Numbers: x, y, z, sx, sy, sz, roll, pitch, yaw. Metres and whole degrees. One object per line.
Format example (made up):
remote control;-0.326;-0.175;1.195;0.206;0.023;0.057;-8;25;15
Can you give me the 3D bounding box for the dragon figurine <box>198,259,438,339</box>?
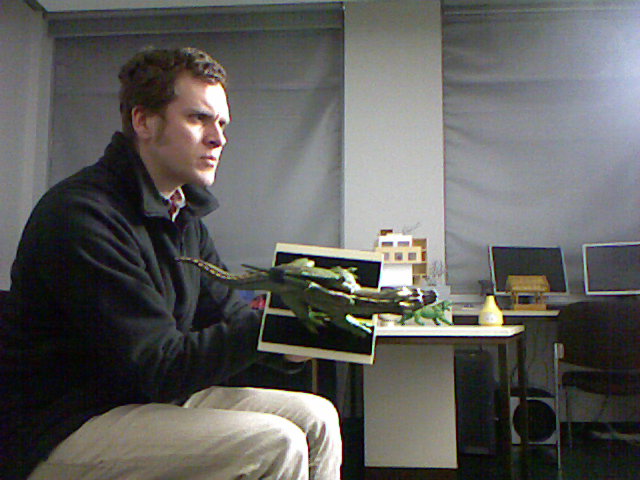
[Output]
dragon figurine;-0.028;0.069;0.809;0.413;0.124;0.241;8;-15;7
